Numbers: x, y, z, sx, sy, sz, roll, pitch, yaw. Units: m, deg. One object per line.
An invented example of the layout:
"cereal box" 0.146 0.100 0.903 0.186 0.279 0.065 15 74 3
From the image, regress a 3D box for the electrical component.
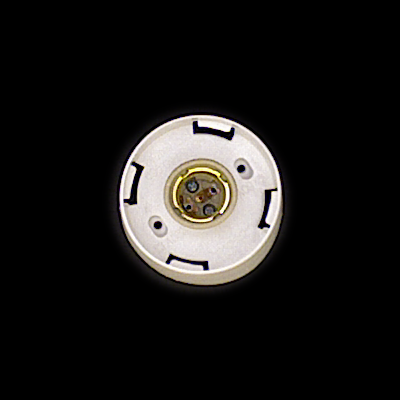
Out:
"electrical component" 0.000 0.000 0.625 0.099 0.099 0.064 0 -6 0
